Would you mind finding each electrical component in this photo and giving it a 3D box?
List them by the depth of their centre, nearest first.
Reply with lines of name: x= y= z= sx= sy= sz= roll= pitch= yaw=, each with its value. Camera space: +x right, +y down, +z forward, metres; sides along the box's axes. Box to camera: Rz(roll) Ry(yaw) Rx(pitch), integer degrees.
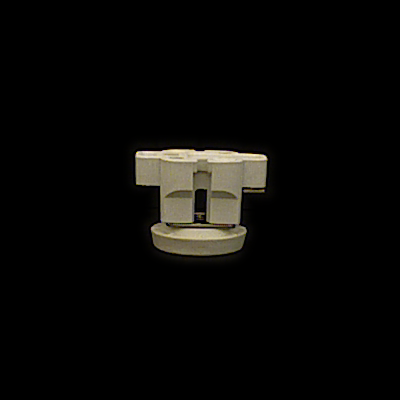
electrical component: x=0.000 y=0.000 z=0.653 sx=0.079 sy=0.057 sz=0.057 roll=2 pitch=11 yaw=-4
